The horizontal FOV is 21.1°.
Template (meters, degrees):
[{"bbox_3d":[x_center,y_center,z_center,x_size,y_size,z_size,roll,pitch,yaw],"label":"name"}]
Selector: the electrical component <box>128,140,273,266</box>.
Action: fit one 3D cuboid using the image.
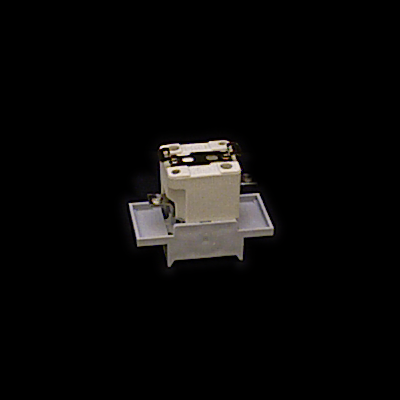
[{"bbox_3d":[0.000,0.000,0.633,0.081,0.064,0.041,-5,32,-10],"label":"electrical component"}]
